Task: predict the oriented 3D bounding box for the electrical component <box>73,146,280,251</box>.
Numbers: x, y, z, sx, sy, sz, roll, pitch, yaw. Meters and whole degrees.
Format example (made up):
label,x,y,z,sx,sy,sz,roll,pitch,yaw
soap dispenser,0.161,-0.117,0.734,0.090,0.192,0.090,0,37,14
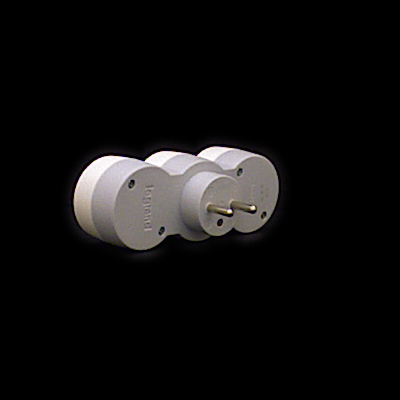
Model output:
label,x,y,z,sx,sy,sz,roll,pitch,yaw
electrical component,0.000,0.000,0.648,0.138,0.052,0.073,-7,15,-43
